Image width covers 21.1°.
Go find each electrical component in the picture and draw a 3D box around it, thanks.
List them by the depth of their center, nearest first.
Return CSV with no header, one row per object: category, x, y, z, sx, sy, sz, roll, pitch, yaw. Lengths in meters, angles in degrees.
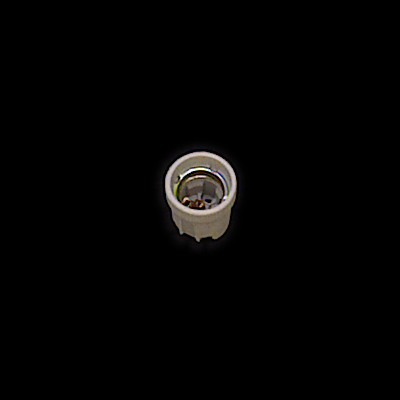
electrical component,0.000,0.000,0.627,0.040,0.040,0.046,0,-27,0
